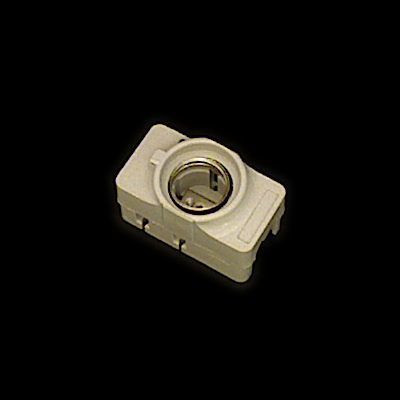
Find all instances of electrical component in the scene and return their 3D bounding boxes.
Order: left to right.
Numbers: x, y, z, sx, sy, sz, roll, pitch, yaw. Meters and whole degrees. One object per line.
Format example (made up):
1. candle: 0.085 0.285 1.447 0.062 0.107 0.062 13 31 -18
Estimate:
1. electrical component: 0.000 0.000 0.636 0.089 0.050 0.055 27 -23 13
